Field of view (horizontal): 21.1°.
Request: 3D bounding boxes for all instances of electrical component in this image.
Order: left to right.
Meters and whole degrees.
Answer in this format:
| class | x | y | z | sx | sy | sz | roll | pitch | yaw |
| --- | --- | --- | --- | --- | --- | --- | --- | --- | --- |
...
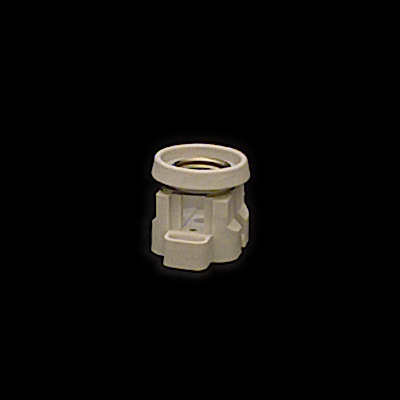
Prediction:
| class | x | y | z | sx | sy | sz | roll | pitch | yaw |
| --- | --- | --- | --- | --- | --- | --- | --- | --- | --- |
| electrical component | 0.000 | 0.000 | 0.641 | 0.057 | 0.057 | 0.078 | 6 | 22 | 14 |
